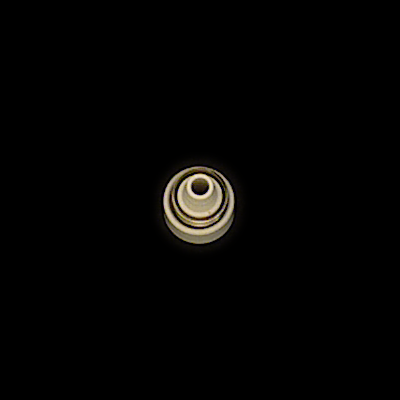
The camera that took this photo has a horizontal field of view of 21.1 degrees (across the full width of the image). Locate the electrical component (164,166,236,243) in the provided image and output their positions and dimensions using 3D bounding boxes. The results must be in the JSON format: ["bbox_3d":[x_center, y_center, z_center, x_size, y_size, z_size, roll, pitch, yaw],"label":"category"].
[{"bbox_3d":[0.000,0.000,0.634,0.043,0.043,0.061,0,-16,-1],"label":"electrical component"}]
